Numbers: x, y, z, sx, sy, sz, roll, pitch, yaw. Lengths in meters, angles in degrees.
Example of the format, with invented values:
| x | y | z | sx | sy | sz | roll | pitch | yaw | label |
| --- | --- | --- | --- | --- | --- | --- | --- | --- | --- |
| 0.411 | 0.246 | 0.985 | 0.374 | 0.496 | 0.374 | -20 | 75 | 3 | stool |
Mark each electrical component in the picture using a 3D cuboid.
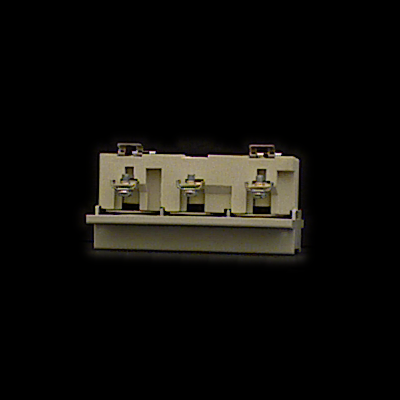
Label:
| x | y | z | sx | sy | sz | roll | pitch | yaw | label |
| --- | --- | --- | --- | --- | --- | --- | --- | --- | --- |
| 0.000 | 0.000 | 0.660 | 0.121 | 0.063 | 0.079 | 2 | 0 | 9 | electrical component |
